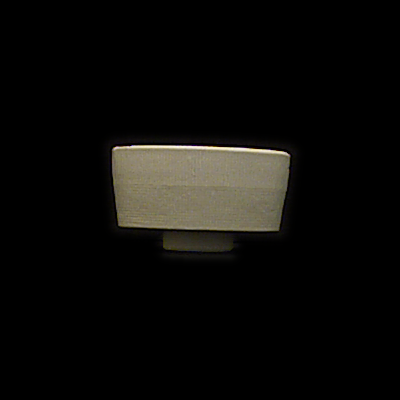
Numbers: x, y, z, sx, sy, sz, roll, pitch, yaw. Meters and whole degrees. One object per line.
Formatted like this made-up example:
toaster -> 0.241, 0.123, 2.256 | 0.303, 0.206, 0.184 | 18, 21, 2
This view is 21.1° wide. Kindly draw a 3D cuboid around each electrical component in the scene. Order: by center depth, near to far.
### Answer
electrical component -> 0.000, 0.000, 0.653 | 0.108, 0.060, 0.108 | 2, 0, 1
